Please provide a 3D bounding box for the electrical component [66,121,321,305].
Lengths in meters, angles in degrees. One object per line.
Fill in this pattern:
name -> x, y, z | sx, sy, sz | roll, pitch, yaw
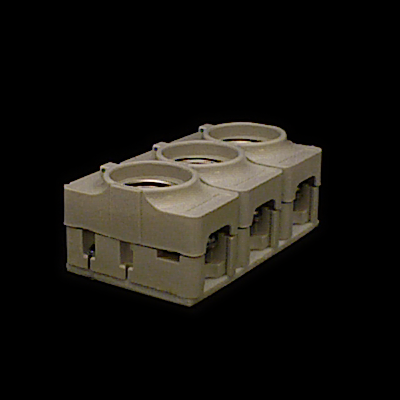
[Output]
electrical component -> 0.000, 0.000, 0.645 | 0.089, 0.063, 0.148 | 13, 23, 30
